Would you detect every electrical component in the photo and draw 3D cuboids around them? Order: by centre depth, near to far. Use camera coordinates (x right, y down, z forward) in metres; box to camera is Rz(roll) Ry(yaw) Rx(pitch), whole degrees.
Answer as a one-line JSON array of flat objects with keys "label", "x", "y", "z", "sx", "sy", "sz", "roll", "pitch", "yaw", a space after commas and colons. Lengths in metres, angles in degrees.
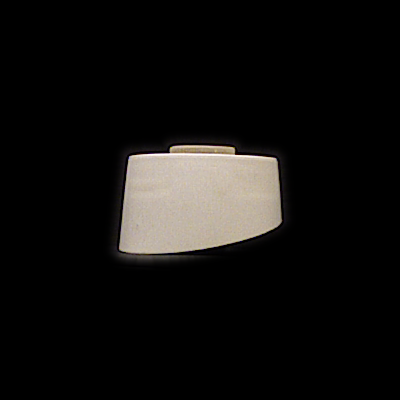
[{"label": "electrical component", "x": 0.000, "y": 0.000, "z": 0.650, "sx": 0.099, "sy": 0.064, "sz": 0.099, "roll": 1, "pitch": 0, "yaw": 0}]
